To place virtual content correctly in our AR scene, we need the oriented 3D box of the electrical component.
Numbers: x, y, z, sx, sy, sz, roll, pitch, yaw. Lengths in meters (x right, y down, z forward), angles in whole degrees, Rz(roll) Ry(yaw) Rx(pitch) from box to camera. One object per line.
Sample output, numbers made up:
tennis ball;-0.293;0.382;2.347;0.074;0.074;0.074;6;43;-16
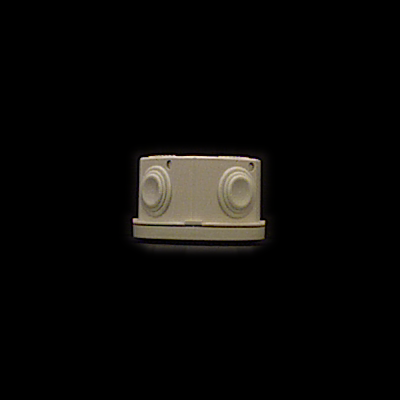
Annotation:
electrical component;0.000;0.000;0.650;0.080;0.051;0.080;1;0;0
